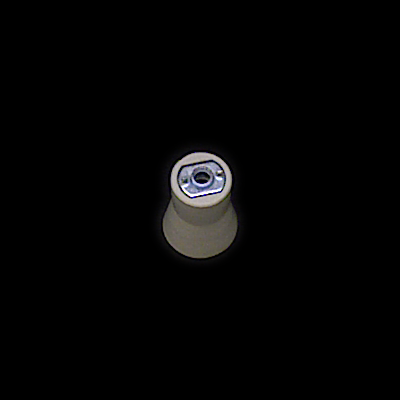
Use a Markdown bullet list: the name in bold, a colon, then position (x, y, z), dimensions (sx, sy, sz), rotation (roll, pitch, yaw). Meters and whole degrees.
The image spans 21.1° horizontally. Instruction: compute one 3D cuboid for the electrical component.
- **electrical component**: position (0.000, 0.000, 0.624), dimensions (0.044, 0.044, 0.065), rotation (0, -26, 0)
